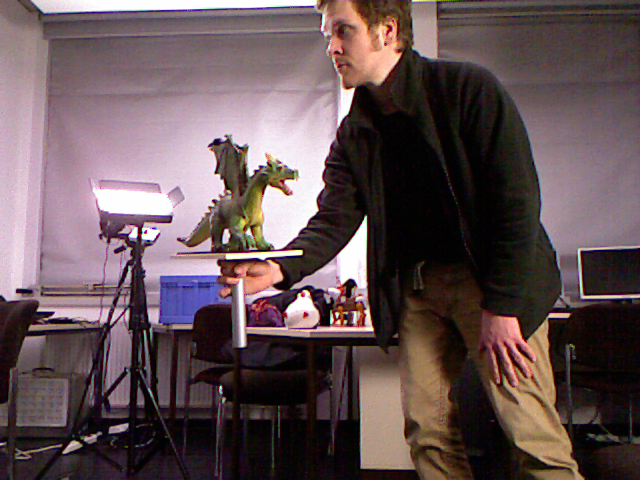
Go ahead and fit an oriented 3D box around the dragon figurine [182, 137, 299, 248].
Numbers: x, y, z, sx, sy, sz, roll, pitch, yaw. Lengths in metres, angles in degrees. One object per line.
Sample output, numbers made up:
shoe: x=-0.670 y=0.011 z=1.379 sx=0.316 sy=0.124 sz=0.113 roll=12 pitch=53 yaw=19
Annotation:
dragon figurine: x=-0.201 y=-0.099 z=1.117 sx=0.410 sy=0.243 sz=0.123 roll=0 pitch=3 yaw=42
